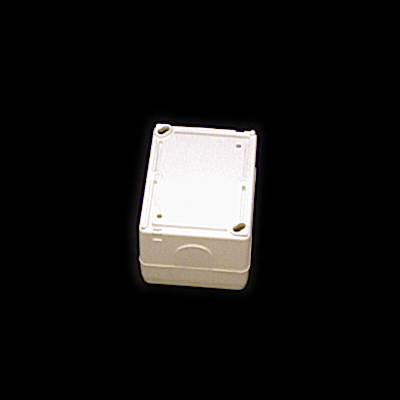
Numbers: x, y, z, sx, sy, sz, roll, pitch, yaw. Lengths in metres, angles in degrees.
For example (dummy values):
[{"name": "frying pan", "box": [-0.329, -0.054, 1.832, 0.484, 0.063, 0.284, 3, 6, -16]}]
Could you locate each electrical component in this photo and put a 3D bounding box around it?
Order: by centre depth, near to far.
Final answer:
[{"name": "electrical component", "box": [0.000, 0.000, 0.630, 0.062, 0.096, 0.061, 4, -39, 3]}]
